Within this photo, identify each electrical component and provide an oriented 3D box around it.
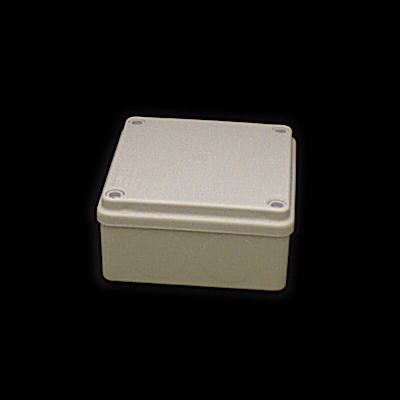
[{"bbox_3d":[0.000,0.000,0.636,0.109,0.057,0.107,4,31,3],"label":"electrical component"}]
